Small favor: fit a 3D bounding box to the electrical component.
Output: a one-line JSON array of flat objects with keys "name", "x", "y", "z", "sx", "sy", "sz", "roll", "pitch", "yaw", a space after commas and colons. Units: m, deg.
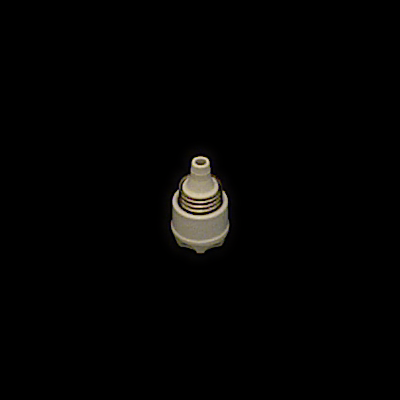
[{"name": "electrical component", "x": 0.000, "y": 0.000, "z": 0.642, "sx": 0.035, "sy": 0.062, "sz": 0.035, "roll": 1, "pitch": 41, "yaw": 0}]
